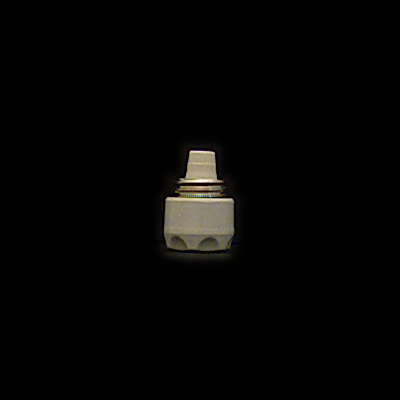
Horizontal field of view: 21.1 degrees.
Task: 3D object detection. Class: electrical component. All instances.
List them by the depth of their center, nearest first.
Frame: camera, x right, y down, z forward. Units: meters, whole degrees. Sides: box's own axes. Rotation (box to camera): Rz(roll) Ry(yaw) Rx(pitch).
[{"bbox_3d":[0.000,0.000,0.655,0.043,0.062,0.043,2,3,0],"label":"electrical component"}]
